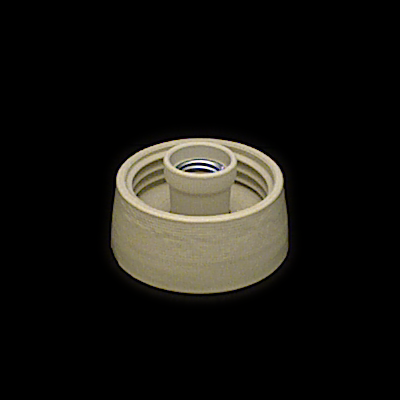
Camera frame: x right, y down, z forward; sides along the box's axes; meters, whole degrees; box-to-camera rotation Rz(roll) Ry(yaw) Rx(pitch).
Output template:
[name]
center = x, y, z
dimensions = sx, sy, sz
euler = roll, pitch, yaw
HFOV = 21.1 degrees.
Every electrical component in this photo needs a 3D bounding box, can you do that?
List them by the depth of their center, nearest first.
[electrical component]
center = 0.000, 0.000, 0.640
dimensions = 0.108, 0.061, 0.106
euler = 1, 32, 0
